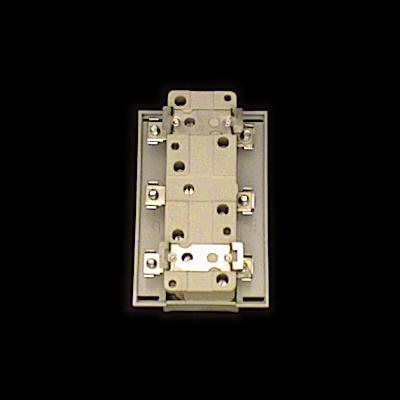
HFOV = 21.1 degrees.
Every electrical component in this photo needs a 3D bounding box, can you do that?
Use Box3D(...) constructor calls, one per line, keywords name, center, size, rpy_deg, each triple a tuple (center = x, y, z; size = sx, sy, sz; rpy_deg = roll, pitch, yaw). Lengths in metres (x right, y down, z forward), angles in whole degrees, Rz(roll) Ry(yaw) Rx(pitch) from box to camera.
Box3D(name="electrical component", center=(0.000, 0.000, 0.634), size=(0.079, 0.122, 0.062), rpy_deg=(0, -16, 0))
